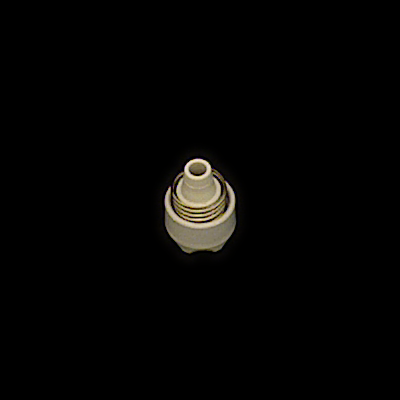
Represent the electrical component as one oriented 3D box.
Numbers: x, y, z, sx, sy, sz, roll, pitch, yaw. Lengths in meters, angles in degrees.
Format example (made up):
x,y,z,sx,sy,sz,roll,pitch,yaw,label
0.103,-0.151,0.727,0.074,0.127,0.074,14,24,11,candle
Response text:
x,y,z,sx,sy,sz,roll,pitch,yaw,label
0.000,0.000,0.635,0.043,0.043,0.062,0,-37,1,electrical component
